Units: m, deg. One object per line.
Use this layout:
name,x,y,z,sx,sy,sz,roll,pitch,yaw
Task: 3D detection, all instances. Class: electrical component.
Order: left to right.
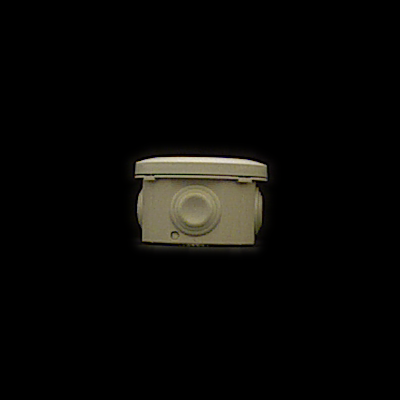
electrical component,0.000,0.000,0.651,0.080,0.051,0.080,1,0,0
